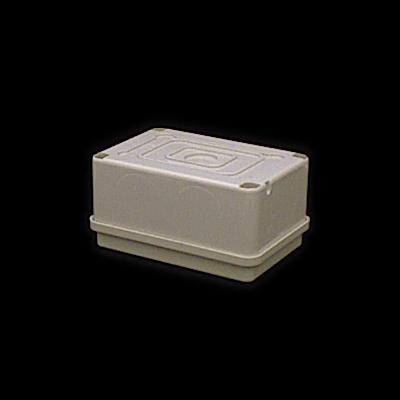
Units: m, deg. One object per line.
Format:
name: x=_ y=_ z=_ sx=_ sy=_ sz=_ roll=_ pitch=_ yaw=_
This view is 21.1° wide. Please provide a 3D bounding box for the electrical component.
electrical component: x=0.000 y=0.000 z=0.639 sx=0.112 sy=0.058 sz=0.078 roll=12 pitch=24 yaw=28
